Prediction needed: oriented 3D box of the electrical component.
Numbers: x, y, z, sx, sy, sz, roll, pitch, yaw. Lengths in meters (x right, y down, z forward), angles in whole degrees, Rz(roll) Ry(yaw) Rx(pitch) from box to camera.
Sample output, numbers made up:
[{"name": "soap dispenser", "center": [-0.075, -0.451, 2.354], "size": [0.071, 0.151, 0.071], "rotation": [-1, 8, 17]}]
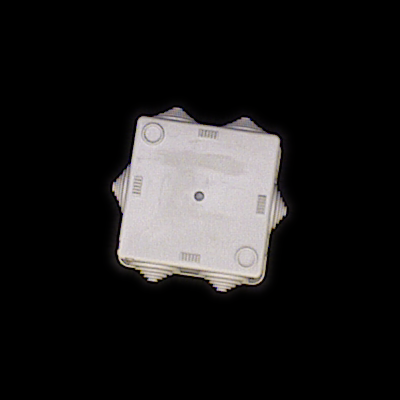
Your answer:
[{"name": "electrical component", "center": [0.000, 0.000, 0.632], "size": [0.100, 0.100, 0.048], "rotation": [8, -7, 1]}]
